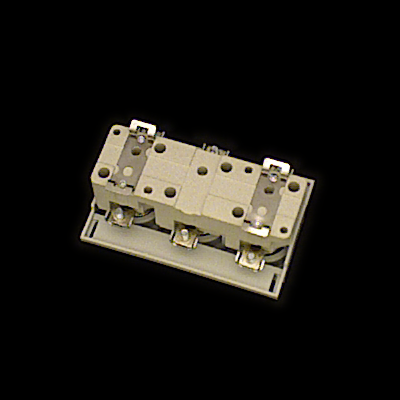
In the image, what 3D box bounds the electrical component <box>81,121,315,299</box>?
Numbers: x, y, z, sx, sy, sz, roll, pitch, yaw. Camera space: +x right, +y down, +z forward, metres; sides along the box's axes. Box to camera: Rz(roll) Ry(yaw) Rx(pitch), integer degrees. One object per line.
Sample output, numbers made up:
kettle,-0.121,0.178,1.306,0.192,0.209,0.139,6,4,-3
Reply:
electrical component,0.000,0.000,0.632,0.121,0.079,0.063,16,-25,8
